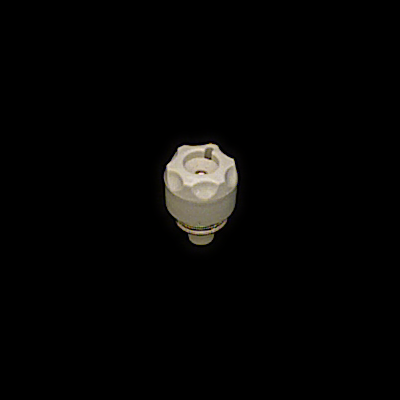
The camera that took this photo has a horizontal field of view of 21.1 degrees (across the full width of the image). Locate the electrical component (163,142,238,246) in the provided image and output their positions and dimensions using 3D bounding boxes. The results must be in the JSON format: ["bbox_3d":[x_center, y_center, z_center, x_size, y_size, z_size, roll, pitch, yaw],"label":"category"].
[{"bbox_3d":[0.000,0.000,0.637,0.043,0.062,0.043,0,43,0],"label":"electrical component"}]
